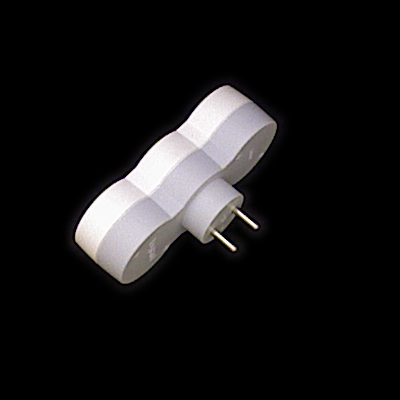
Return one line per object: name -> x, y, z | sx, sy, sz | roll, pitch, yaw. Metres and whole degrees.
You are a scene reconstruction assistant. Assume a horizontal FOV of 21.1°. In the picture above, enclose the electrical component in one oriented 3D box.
electrical component -> 0.000, 0.000, 0.632 | 0.073, 0.138, 0.052 | 40, -22, 16
